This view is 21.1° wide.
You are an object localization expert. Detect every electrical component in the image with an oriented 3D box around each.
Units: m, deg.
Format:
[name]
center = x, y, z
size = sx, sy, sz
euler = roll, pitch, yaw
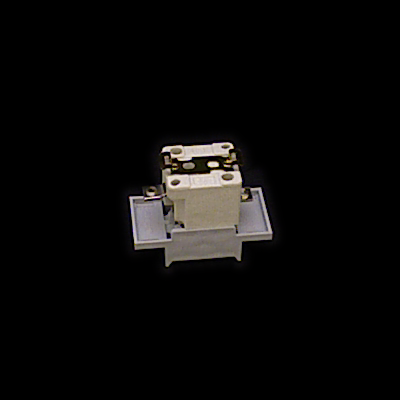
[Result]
[electrical component]
center = 0.000, 0.000, 0.630
size = 0.081, 0.064, 0.041
euler = -5, 42, -6
